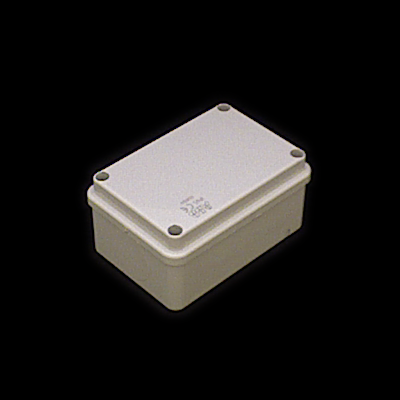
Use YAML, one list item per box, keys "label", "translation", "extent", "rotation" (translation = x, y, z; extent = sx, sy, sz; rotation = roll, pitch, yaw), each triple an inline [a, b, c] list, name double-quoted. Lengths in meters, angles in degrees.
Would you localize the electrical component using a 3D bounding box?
- label: "electrical component"
  translation: [0.000, 0.000, 0.630]
  extent: [0.113, 0.057, 0.077]
  rotation: [-32, 51, -31]
